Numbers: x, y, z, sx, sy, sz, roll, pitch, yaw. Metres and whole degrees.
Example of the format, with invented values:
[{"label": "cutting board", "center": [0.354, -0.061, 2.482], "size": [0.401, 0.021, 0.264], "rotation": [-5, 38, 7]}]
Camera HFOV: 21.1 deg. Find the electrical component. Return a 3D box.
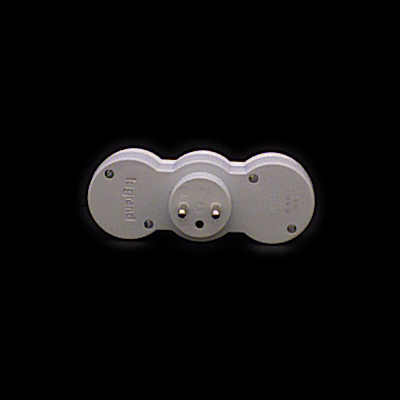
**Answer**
[{"label": "electrical component", "center": [0.000, 0.000, 0.645], "size": [0.138, 0.052, 0.073], "rotation": [2, 13, 1]}]
